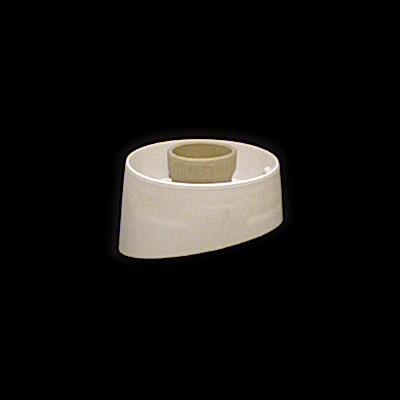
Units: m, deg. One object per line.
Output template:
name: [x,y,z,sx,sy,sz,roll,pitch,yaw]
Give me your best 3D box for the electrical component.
electrical component: [0.000,0.000,0.638,0.099,0.065,0.097,1,21,0]
